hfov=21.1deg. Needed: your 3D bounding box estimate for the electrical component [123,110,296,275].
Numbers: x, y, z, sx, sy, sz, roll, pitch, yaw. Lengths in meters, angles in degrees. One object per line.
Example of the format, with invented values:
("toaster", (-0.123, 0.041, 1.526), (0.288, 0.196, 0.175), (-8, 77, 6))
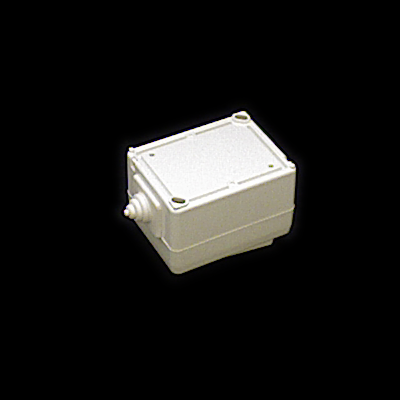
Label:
("electrical component", (0.000, 0.000, 0.626), (0.096, 0.061, 0.061), (-20, 46, -22))
